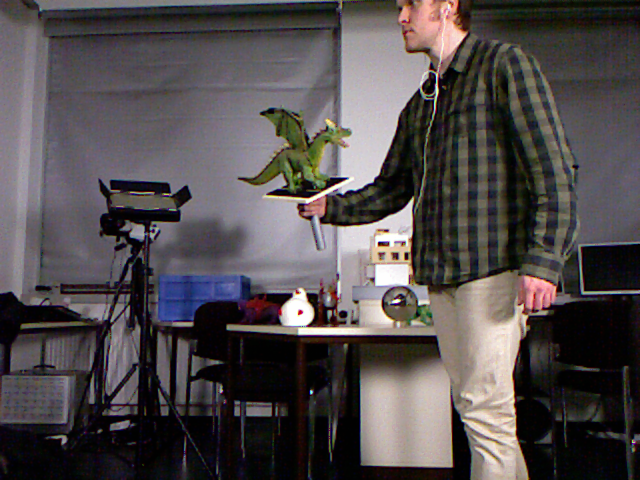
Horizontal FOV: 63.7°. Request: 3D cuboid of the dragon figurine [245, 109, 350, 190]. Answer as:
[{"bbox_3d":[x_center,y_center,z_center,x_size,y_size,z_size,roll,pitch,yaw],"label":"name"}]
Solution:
[{"bbox_3d":[-0.093,-0.269,1.513,0.410,0.239,0.124,1,27,30],"label":"dragon figurine"}]
